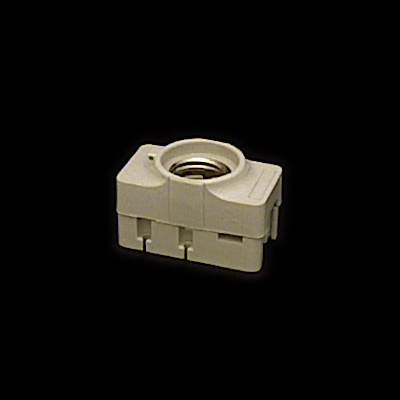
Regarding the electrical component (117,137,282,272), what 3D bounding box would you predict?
[{"bbox_3d":[0.000,0.000,0.643,0.089,0.056,0.050,10,33,14],"label":"electrical component"}]
